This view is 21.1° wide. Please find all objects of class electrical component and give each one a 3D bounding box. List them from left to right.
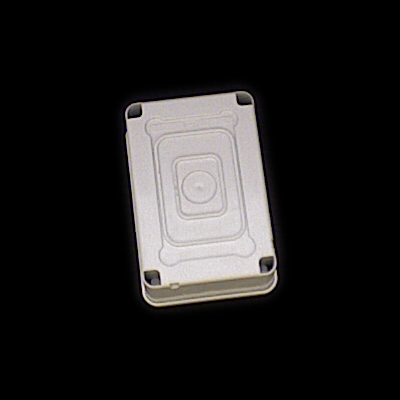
[{"bbox_3d":[0.000,0.000,0.628,0.078,0.113,0.057,-7,-17,-2],"label":"electrical component"}]
